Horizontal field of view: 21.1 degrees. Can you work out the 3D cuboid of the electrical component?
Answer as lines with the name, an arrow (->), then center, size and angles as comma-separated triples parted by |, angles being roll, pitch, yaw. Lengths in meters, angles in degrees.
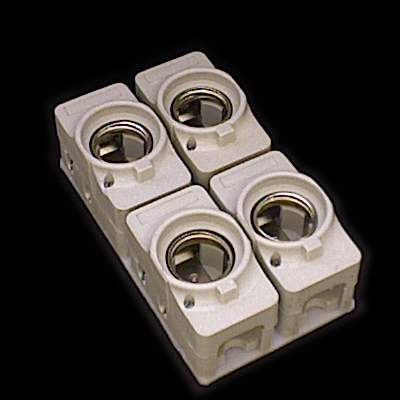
electrical component -> 0.000, 0.000, 0.627 | 0.105, 0.185, 0.060 | -24, -33, -18
